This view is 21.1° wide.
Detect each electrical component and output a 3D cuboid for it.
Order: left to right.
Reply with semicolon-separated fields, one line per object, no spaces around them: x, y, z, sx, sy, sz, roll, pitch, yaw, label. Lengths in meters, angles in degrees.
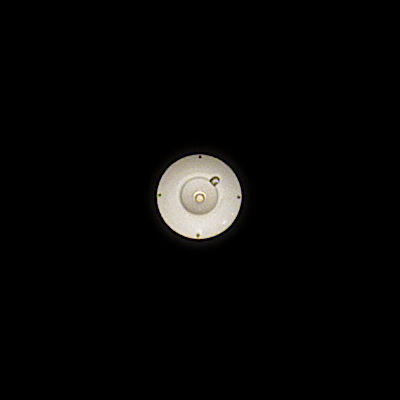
0.000;0.000;0.634;0.048;0.048;0.062;0;-6;0;electrical component
